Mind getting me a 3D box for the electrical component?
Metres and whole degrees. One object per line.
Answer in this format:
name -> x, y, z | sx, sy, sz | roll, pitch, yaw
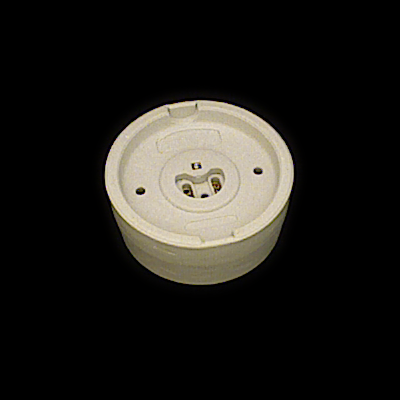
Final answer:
electrical component -> 0.000, 0.000, 0.637 | 0.108, 0.107, 0.060 | 0, -37, -1
